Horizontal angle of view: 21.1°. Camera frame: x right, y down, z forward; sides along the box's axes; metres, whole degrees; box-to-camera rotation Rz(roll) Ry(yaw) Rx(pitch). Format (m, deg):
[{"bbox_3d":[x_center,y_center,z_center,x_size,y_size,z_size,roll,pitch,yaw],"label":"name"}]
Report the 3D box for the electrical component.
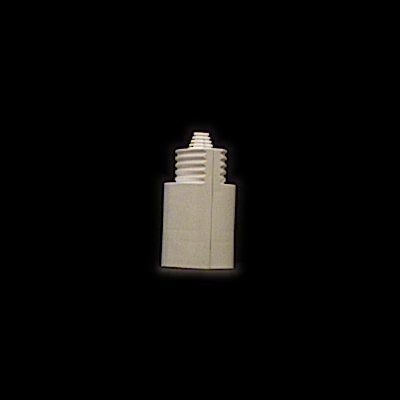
[{"bbox_3d":[0.000,0.000,0.649,0.043,0.081,0.043,1,1,0],"label":"electrical component"}]
